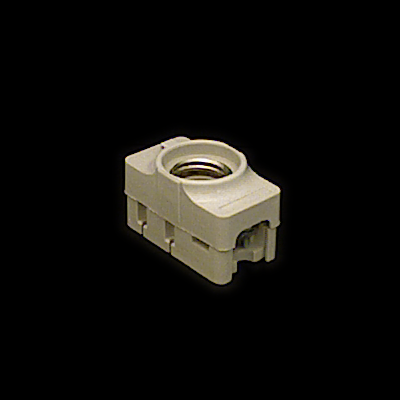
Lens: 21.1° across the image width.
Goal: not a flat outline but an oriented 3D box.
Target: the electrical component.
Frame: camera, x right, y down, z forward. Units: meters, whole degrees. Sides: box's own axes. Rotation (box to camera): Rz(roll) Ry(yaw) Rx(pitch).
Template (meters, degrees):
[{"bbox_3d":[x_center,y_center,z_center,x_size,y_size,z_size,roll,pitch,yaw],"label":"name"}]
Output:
[{"bbox_3d":[0.000,0.000,0.643,0.050,0.056,0.088,-26,41,-36],"label":"electrical component"}]
